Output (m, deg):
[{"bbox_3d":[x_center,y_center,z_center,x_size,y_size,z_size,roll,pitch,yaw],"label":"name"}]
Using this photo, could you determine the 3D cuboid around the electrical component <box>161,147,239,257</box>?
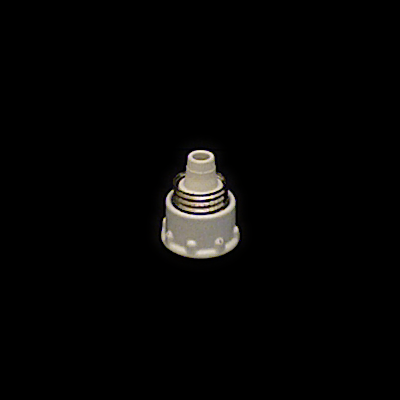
[{"bbox_3d":[0.000,0.000,0.642,0.048,0.063,0.047,1,31,0],"label":"electrical component"}]
